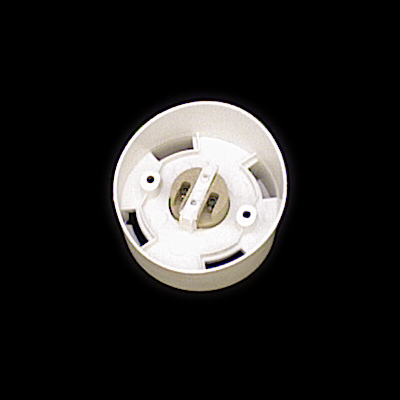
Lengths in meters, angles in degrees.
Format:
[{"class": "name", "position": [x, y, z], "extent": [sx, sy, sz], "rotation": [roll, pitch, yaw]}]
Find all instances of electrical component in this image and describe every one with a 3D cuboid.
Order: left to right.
[{"class": "electrical component", "position": [0.000, 0.000, 0.625], "extent": [0.099, 0.099, 0.064], "rotation": [0, -28, 0]}]
